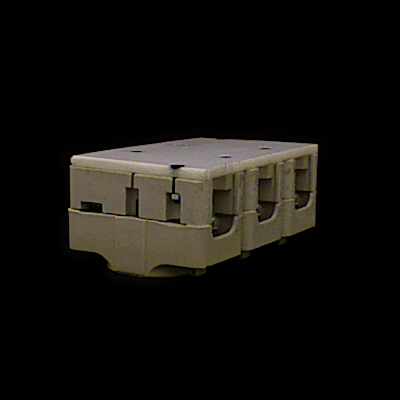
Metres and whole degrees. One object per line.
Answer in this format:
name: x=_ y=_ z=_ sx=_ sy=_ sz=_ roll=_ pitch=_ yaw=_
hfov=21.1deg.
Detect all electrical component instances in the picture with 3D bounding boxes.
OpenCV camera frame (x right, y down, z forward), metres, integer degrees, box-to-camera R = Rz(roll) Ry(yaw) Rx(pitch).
electrical component: x=0.000 y=0.000 z=0.647 sx=0.089 sy=0.062 sz=0.149 roll=6 pitch=11 yaw=29
